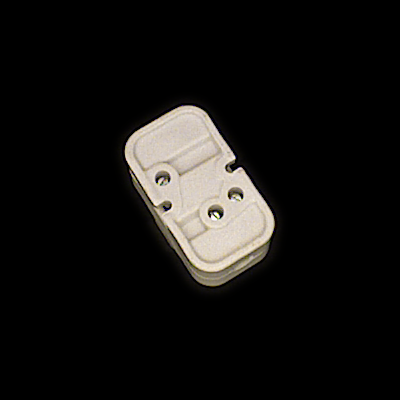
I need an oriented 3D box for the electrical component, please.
[{"bbox_3d":[0.000,0.000,0.636,0.054,0.095,0.059,-31,-14,-8],"label":"electrical component"}]
